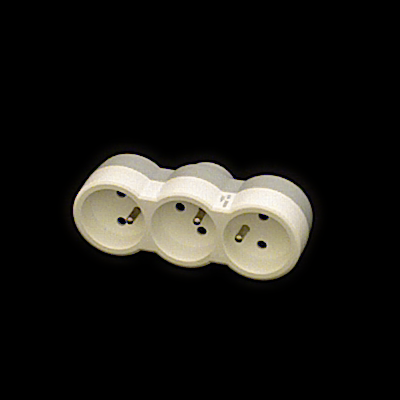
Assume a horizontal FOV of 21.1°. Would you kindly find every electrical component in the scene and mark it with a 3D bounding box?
[{"bbox_3d":[0.000,0.000,0.646,0.137,0.053,0.073,9,32,13],"label":"electrical component"}]
